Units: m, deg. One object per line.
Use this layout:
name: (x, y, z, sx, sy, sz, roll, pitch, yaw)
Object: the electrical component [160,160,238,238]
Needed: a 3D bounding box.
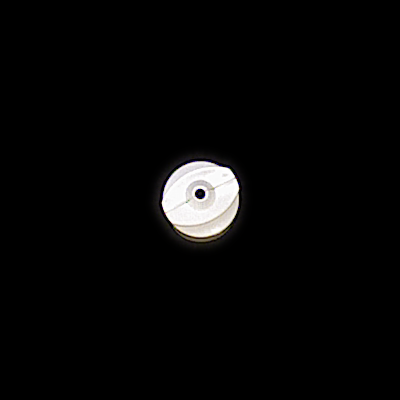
electrical component: (0.000, 0.000, 0.616, 0.043, 0.043, 0.080, 0, -6, 1)
